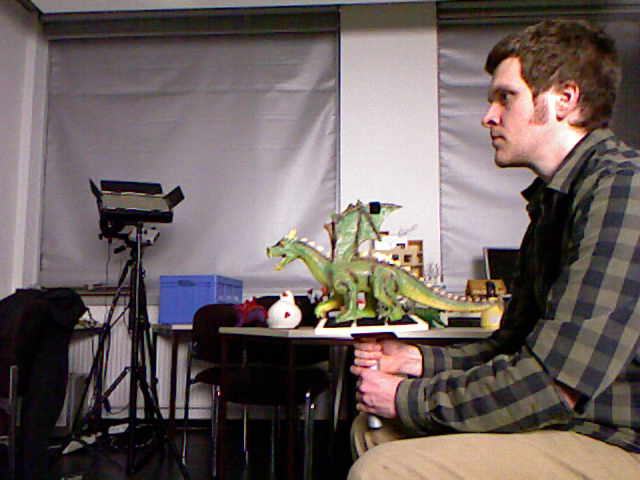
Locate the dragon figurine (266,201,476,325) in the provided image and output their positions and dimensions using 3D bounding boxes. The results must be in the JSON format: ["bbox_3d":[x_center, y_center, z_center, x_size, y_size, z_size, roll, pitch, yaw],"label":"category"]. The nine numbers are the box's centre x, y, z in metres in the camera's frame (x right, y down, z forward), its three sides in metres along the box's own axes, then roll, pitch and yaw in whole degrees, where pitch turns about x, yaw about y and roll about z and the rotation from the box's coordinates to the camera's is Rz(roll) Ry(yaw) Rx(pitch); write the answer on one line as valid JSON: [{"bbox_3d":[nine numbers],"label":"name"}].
[{"bbox_3d":[0.098,0.041,1.038,0.411,0.244,0.122,-4,-3,-3],"label":"dragon figurine"}]
